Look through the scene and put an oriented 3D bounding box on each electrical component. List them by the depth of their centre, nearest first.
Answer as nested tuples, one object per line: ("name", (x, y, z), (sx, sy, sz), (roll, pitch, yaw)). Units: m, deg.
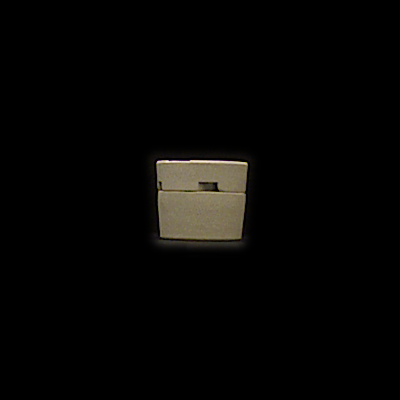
("electrical component", (0.000, 0.000, 0.649), (0.055, 0.047, 0.055), (1, 0, 0))
